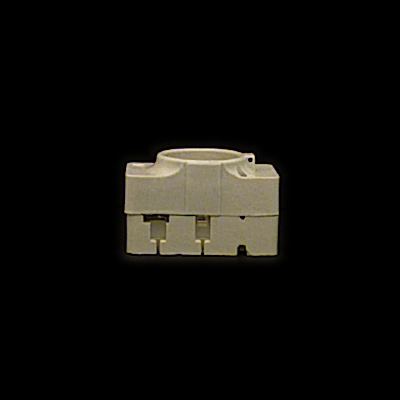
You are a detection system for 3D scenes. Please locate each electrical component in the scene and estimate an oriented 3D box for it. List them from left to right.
[{"bbox_3d":[0.000,0.000,0.651,0.090,0.056,0.049,0,12,-4],"label":"electrical component"}]
